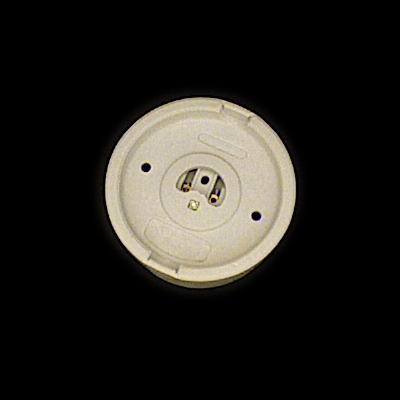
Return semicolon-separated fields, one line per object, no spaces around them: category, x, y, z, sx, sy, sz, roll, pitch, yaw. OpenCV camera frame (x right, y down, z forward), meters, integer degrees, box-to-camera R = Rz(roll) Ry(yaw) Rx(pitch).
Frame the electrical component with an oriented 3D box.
electrical component;0.000;0.000;0.633;0.108;0.108;0.060;0;-17;0
